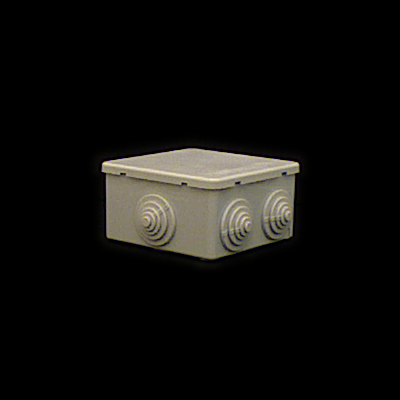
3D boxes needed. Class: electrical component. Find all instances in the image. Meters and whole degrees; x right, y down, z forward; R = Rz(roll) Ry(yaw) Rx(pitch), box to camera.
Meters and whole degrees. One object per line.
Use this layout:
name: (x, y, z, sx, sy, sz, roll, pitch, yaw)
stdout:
electrical component: (0.000, 0.000, 0.651, 0.098, 0.049, 0.100, 10, 14, 37)
